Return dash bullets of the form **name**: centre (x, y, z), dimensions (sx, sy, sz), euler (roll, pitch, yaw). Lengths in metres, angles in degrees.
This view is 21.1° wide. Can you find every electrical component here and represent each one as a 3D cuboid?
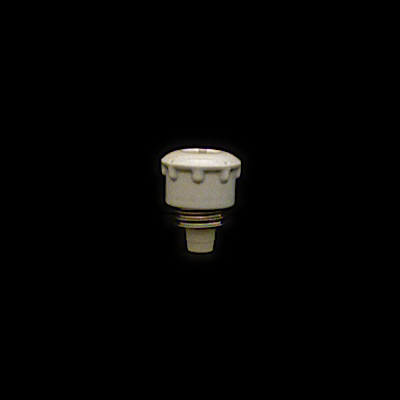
- **electrical component**: centre (0.000, 0.000, 0.651), dimensions (0.048, 0.062, 0.048), euler (1, 11, 0)
